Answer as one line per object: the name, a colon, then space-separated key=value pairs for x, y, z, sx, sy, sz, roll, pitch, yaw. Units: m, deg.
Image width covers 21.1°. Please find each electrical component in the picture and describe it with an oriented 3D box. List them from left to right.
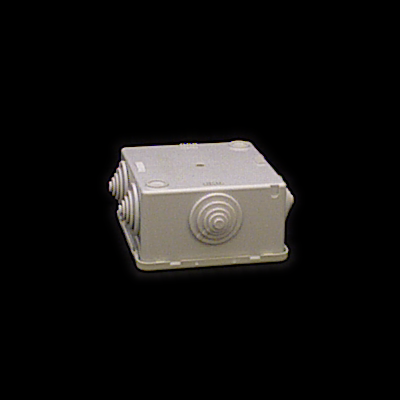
electrical component: x=0.000 y=0.000 z=0.640 sx=0.100 sy=0.049 sz=0.098 roll=-4 pitch=21 yaw=-12
